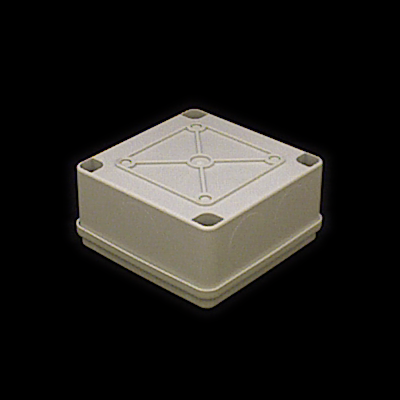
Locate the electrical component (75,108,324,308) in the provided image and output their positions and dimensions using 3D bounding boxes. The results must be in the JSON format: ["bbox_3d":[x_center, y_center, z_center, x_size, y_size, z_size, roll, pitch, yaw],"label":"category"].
[{"bbox_3d":[0.000,0.000,0.633,0.107,0.057,0.108,25,39,34],"label":"electrical component"}]
